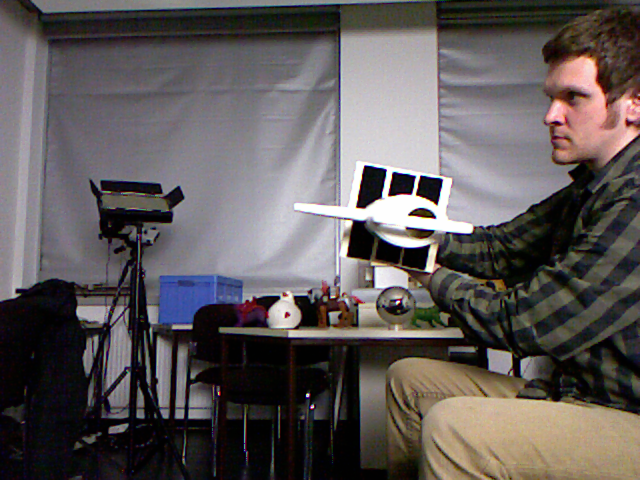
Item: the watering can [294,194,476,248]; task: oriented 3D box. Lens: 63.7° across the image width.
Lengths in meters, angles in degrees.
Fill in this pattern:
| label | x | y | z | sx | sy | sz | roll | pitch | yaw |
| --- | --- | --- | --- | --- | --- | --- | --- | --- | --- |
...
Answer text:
| label | x | y | z | sx | sy | sz | roll | pitch | yaw |
| --- | --- | --- | --- | --- | --- | --- | --- | --- | --- |
| watering can | 0.121 | -0.044 | 1.007 | 0.349 | 0.104 | 0.226 | 8 | 2 | -5 |
